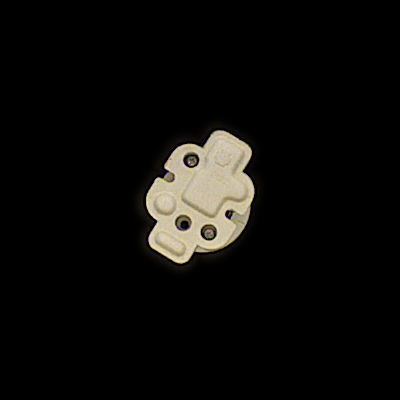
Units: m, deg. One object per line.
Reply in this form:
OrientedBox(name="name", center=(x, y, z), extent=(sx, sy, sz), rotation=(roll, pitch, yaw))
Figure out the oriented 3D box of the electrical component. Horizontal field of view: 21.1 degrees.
OrientedBox(name="electrical component", center=(0.000, 0.000, 0.637), extent=(0.058, 0.079, 0.056), rotation=(30, -6, 4))
